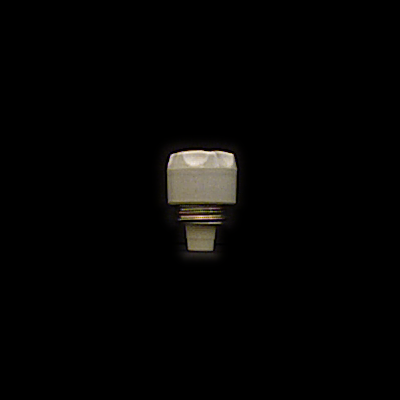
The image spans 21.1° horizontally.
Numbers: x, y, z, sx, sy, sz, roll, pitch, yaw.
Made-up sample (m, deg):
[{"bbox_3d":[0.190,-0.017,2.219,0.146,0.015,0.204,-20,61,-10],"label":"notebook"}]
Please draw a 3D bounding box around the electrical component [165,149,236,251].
[{"bbox_3d":[0.000,0.000,0.657,0.043,0.062,0.043,1,1,1],"label":"electrical component"}]
